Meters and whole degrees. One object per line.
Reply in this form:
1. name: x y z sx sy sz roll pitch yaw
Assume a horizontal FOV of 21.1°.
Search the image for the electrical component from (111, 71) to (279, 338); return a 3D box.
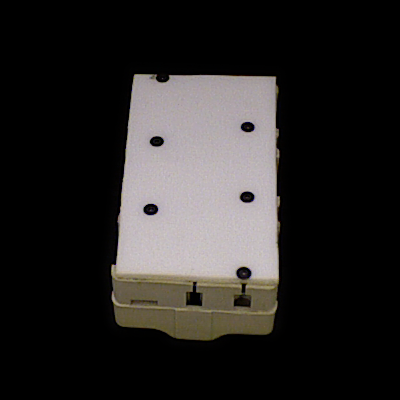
1. electrical component: 0.000 0.000 0.631 0.089 0.148 0.062 2 -37 1
